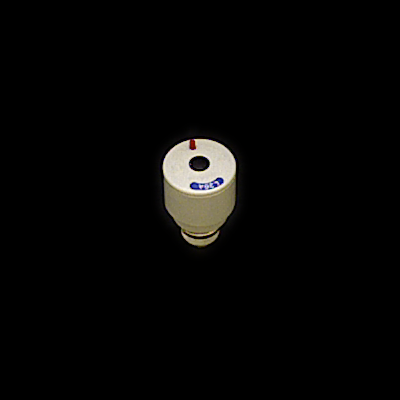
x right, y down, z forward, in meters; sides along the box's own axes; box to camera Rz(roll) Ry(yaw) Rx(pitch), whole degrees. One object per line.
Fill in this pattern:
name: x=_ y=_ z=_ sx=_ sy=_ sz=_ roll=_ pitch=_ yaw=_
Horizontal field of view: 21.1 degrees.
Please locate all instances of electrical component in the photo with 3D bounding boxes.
electrical component: x=0.000 y=0.000 z=0.622 sx=0.040 sy=0.040 sz=0.079 roll=0 pitch=-38 yaw=0
